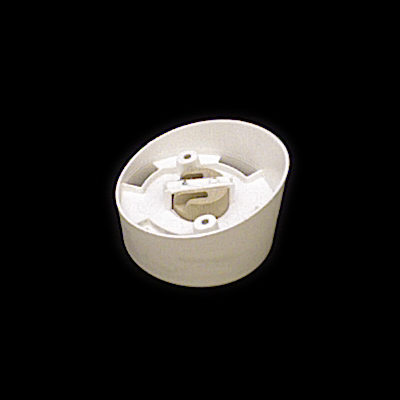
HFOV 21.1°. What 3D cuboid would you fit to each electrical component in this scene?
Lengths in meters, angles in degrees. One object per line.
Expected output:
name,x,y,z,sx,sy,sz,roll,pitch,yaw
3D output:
electrical component,0.000,0.000,0.630,0.099,0.065,0.097,1,41,-1
